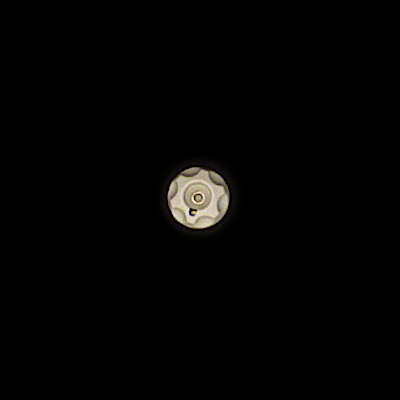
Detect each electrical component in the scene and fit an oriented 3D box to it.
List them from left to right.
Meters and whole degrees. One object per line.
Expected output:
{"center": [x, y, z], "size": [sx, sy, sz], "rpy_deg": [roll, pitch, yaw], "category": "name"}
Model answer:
{"center": [0.000, 0.000, 0.635], "size": [0.035, 0.035, 0.061], "rpy_deg": [0, -5, 1], "category": "electrical component"}
